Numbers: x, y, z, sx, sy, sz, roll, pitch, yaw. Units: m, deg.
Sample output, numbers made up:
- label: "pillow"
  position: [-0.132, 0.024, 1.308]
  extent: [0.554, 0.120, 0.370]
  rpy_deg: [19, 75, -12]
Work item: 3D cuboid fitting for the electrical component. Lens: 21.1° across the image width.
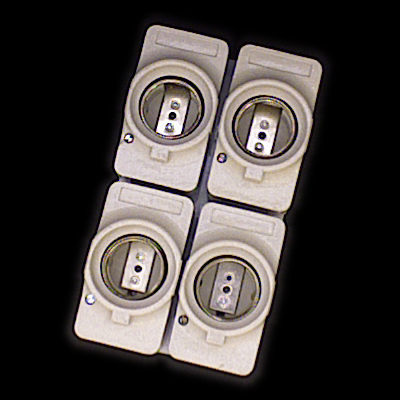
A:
- label: "electrical component"
  position: [0.000, 0.000, 0.626]
  extent: [0.105, 0.187, 0.060]
  rpy_deg: [13, -6, 1]
